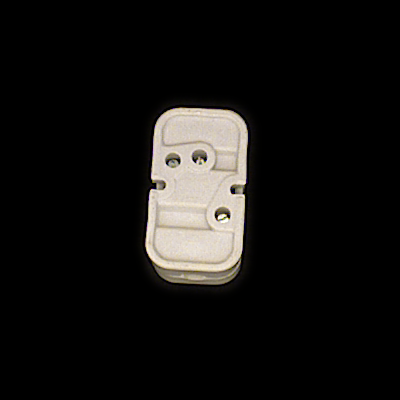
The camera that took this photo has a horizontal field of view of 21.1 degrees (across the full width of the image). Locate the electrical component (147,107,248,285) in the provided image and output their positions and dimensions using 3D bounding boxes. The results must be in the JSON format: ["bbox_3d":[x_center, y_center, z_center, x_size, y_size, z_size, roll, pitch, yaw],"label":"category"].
[{"bbox_3d":[0.000,0.000,0.635,0.054,0.095,0.059,3,-15,1],"label":"electrical component"}]
